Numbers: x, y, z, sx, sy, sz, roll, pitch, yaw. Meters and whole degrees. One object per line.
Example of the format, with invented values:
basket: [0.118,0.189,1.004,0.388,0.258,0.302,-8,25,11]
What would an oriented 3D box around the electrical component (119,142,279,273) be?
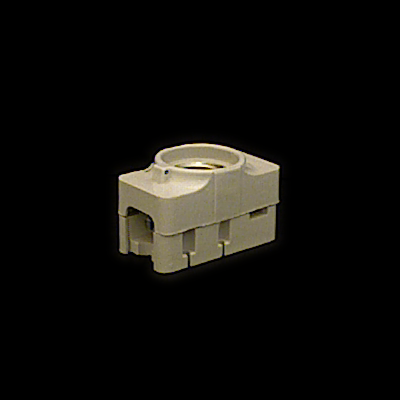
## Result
electrical component: [0.000,0.000,0.647,0.090,0.056,0.049,-16,27,-37]
